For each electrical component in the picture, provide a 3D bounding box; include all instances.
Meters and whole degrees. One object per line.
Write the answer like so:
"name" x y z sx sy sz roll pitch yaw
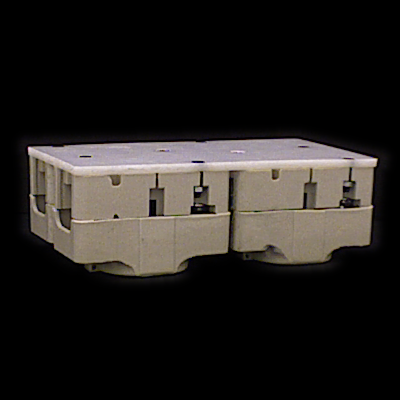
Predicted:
"electrical component" 0.000 0.000 0.644 0.186 0.061 0.104 -3 11 -23
